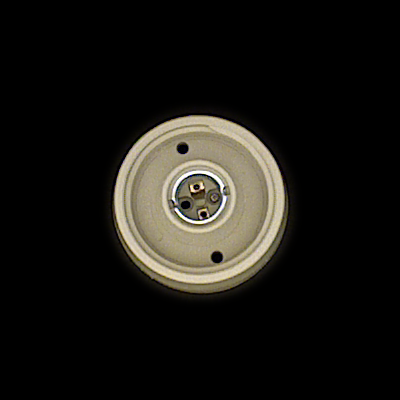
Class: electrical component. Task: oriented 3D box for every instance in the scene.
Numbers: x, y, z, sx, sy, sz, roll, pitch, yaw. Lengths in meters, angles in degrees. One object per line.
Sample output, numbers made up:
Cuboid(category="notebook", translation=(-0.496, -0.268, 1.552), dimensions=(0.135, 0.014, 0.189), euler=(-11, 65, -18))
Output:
Cuboid(category="electrical component", translation=(0.000, 0.000, 0.635), dimensions=(0.108, 0.108, 0.060), euler=(0, -6, 0))
